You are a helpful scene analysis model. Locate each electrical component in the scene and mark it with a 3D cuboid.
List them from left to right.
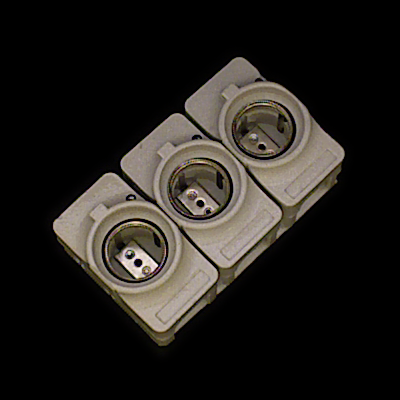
[{"bbox_3d":[0.000,0.000,0.631,0.150,0.089,0.062,-43,-13,-12],"label":"electrical component"}]
